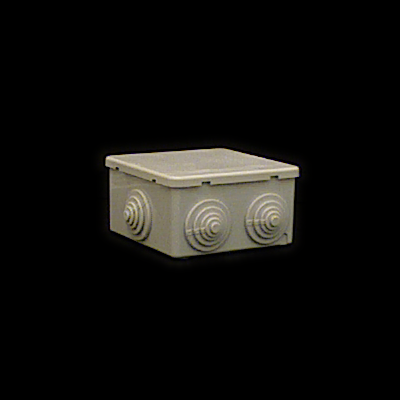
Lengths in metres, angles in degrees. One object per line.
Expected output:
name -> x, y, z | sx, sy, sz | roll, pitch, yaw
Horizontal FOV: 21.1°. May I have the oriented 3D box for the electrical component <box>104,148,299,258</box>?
electrical component -> 0.000, 0.000, 0.651 | 0.100, 0.049, 0.098 | -6, 13, -31
